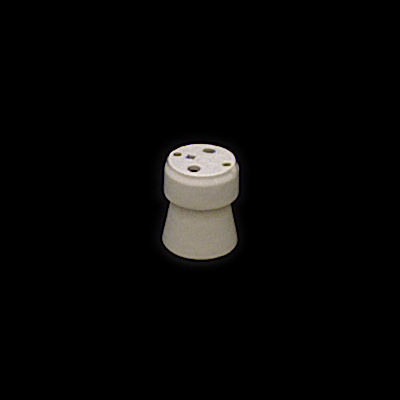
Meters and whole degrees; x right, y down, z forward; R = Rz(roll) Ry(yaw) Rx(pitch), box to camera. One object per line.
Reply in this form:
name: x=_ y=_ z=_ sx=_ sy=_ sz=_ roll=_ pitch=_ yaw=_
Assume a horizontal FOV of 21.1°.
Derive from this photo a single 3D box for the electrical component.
electrical component: x=0.000 y=0.000 z=0.637 sx=0.045 sy=0.056 sz=0.044 roll=1 pitch=32 yaw=-1
